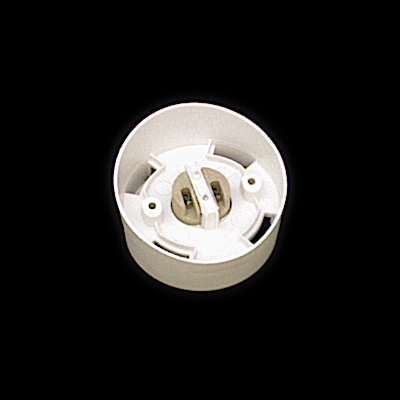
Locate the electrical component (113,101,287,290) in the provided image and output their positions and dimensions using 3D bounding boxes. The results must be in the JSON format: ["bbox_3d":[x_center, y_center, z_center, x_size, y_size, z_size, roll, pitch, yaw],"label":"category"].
[{"bbox_3d":[0.000,0.000,0.626,0.099,0.098,0.064,0,-38,0],"label":"electrical component"}]
